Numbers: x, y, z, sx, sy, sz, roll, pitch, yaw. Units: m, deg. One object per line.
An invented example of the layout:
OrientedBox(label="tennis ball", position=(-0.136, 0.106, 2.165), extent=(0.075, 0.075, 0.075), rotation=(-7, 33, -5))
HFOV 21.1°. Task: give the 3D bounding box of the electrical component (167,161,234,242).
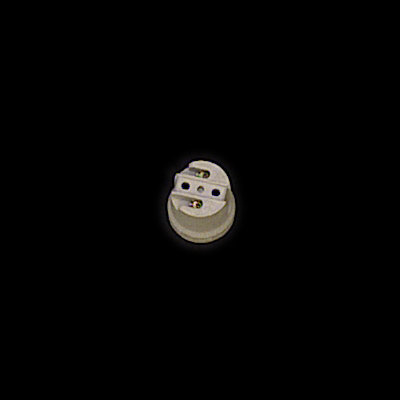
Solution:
OrientedBox(label="electrical component", position=(0.000, 0.000, 0.633), extent=(0.040, 0.040, 0.046), rotation=(0, -17, 0))
